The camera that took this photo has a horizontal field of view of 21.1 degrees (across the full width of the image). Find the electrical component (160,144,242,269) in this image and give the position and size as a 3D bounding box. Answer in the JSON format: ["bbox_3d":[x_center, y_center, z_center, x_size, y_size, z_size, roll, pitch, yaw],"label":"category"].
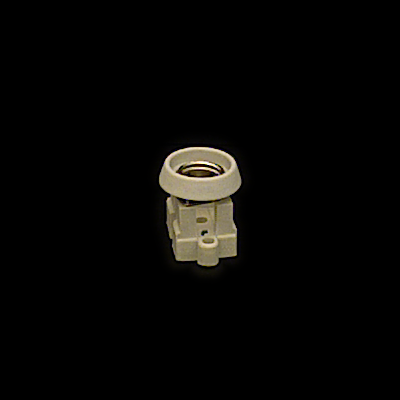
[{"bbox_3d":[0.000,0.000,0.643,0.048,0.056,0.065,-4,33,-11],"label":"electrical component"}]
